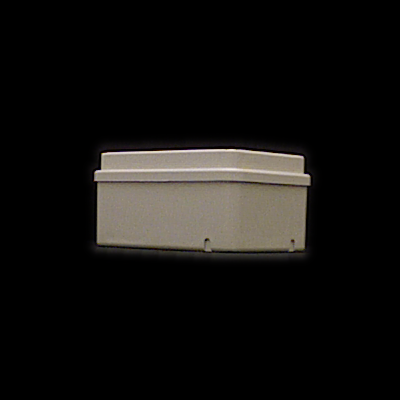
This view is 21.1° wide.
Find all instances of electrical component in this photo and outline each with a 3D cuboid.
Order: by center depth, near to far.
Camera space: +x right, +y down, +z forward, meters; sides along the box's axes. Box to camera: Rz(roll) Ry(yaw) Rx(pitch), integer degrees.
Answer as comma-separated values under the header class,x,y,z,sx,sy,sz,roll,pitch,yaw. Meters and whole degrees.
class,x,y,z,sx,sy,sz,roll,pitch,yaw
electrical component,0.000,0.000,0.647,0.112,0.057,0.078,2,0,41
